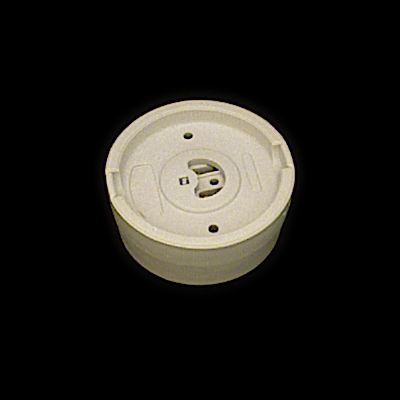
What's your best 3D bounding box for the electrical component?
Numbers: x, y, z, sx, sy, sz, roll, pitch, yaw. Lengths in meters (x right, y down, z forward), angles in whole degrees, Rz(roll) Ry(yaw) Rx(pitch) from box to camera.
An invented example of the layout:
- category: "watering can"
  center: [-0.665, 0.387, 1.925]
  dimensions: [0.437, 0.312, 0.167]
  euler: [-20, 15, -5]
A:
- category: "electrical component"
  center: [0.000, 0.000, 0.633]
  dimensions: [0.108, 0.107, 0.060]
  euler: [0, -37, -1]
